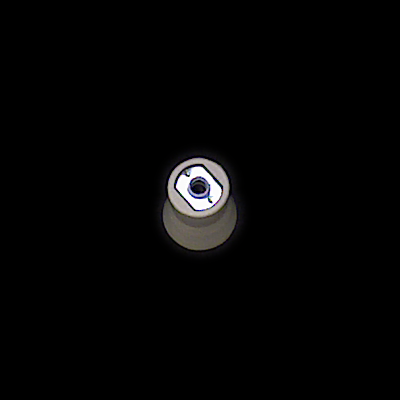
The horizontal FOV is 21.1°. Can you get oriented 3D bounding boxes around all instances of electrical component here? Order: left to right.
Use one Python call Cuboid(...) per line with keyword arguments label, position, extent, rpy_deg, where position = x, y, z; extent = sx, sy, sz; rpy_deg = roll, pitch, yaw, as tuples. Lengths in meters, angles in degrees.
Cuboid(label="electrical component", position=(0.000, 0.000, 0.624), extent=(0.044, 0.044, 0.065), rpy_deg=(0, -16, 1))
